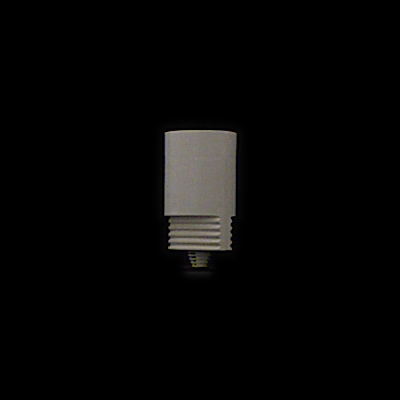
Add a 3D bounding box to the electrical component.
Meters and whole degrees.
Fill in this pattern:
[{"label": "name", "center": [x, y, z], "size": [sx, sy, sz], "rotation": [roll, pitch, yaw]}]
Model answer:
[{"label": "electrical component", "center": [0.000, 0.000, 0.649], "size": [0.043, 0.081, 0.043], "rotation": [1, 0, 0]}]
